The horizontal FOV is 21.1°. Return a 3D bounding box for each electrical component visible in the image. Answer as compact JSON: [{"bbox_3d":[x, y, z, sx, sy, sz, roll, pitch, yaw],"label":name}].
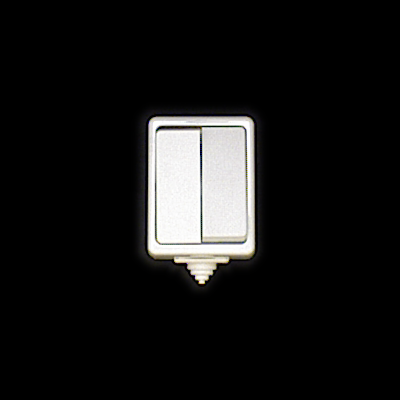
[{"bbox_3d":[0.000,0.000,0.626,0.062,0.096,0.061,0,-7,1],"label":"electrical component"}]
